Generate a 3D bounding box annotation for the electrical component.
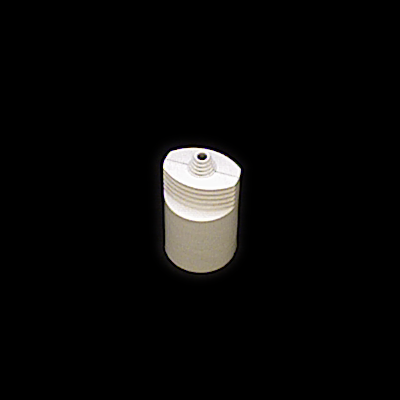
[{"bbox_3d":[0.000,0.000,0.619,0.043,0.043,0.081,0,-38,0],"label":"electrical component"}]
